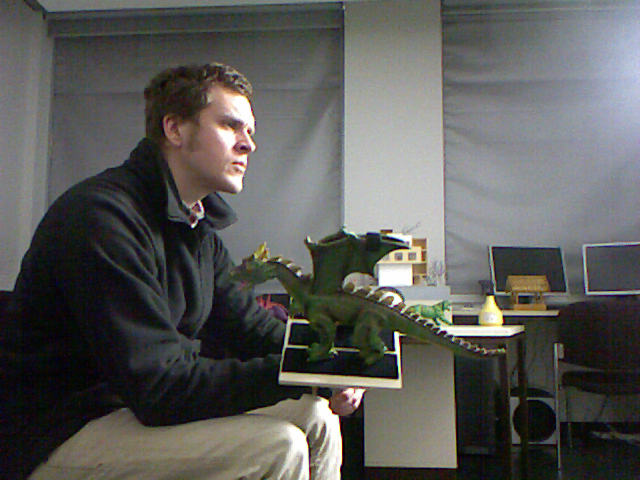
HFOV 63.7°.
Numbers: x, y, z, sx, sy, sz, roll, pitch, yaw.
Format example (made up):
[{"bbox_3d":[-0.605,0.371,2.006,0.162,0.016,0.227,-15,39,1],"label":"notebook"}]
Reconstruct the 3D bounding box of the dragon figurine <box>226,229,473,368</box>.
[{"bbox_3d":[0.057,0.086,0.831,0.412,0.237,0.126,4,45,4],"label":"dragon figurine"}]
